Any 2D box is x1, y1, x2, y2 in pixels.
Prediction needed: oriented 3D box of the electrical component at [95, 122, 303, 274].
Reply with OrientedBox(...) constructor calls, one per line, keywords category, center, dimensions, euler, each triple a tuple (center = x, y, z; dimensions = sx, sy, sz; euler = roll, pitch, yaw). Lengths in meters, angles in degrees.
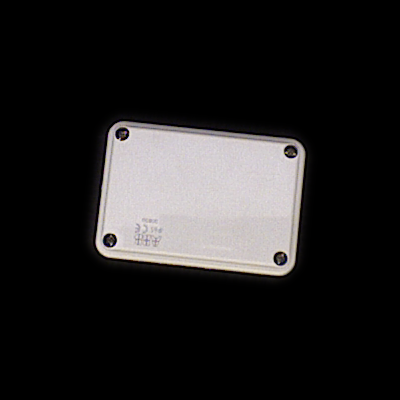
OrientedBox(category="electrical component", center=(0.000, 0.000, 0.628), dimensions=(0.113, 0.078, 0.057), euler=(6, -7, 1))
